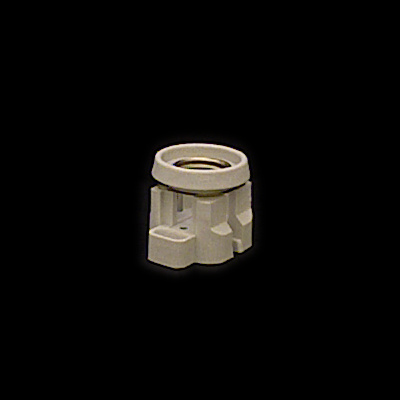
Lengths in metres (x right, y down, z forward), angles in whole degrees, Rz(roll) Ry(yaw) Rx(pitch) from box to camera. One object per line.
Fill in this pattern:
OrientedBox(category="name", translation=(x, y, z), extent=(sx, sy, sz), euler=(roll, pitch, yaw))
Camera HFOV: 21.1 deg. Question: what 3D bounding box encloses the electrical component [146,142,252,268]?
OrientedBox(category="electrical component", translation=(0.000, 0.000, 0.641), extent=(0.057, 0.057, 0.078), euler=(15, 25, 32))
